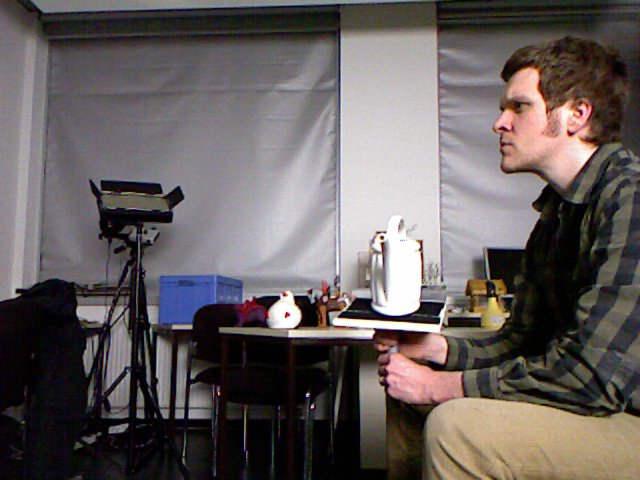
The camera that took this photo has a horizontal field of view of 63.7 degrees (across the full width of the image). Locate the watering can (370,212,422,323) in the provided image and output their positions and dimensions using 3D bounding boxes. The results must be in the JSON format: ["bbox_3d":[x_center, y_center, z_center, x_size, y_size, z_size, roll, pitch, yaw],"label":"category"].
[{"bbox_3d":[0.144,0.060,1.015,0.104,0.223,0.350,2,8,17],"label":"watering can"}]
